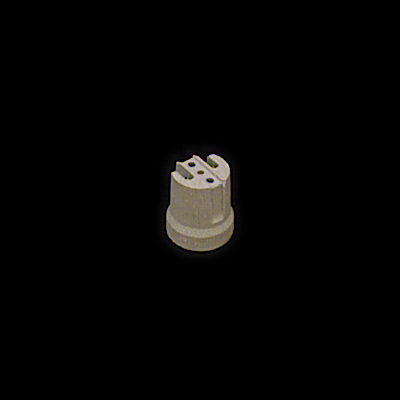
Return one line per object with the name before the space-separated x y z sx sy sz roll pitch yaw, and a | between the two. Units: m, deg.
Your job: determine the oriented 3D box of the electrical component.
electrical component | 0.000 0.000 0.637 0.040 0.046 0.040 1 42 -1
